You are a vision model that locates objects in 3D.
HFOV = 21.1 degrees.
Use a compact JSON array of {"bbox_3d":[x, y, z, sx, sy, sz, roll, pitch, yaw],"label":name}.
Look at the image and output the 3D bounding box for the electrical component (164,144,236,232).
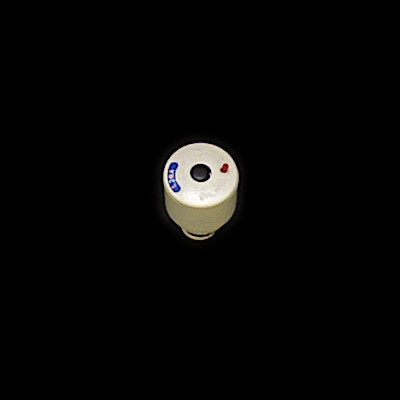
[{"bbox_3d":[0.000,0.000,0.618,0.040,0.040,0.078,0,-28,-1],"label":"electrical component"}]
